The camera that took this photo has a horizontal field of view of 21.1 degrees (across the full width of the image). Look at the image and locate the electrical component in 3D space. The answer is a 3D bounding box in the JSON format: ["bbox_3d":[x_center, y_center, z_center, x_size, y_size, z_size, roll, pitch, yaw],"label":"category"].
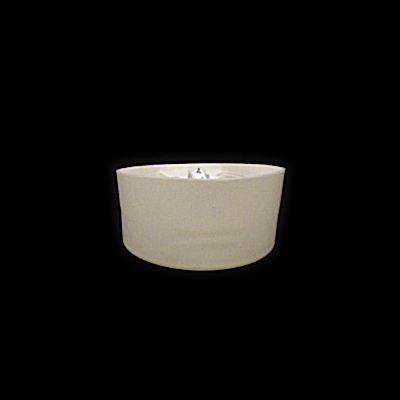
[{"bbox_3d":[0.000,0.000,0.637,0.099,0.065,0.097,2,21,0],"label":"electrical component"}]
